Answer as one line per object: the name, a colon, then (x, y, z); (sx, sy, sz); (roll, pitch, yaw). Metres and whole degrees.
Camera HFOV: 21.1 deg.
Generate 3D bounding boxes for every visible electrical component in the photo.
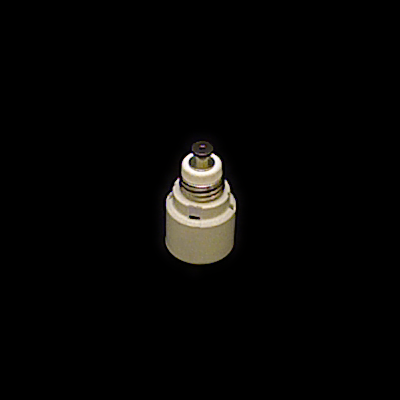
electrical component: (0.000, 0.000, 0.625); (0.040, 0.079, 0.039); (1, 42, -1)
